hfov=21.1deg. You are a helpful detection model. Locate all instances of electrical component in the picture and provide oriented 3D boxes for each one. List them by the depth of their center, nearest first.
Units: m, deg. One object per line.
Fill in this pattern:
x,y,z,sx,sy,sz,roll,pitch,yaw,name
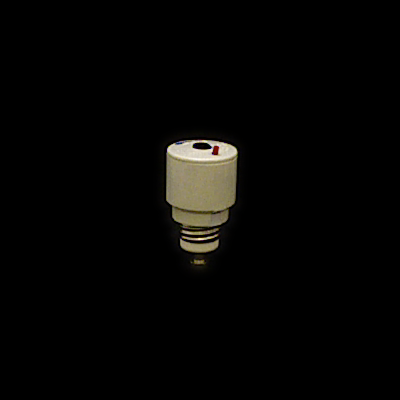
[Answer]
0.000,0.000,0.633,0.040,0.079,0.039,1,21,0,electrical component
